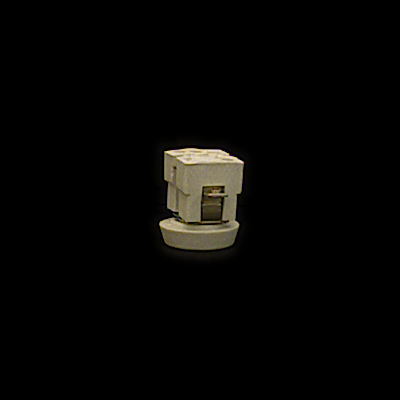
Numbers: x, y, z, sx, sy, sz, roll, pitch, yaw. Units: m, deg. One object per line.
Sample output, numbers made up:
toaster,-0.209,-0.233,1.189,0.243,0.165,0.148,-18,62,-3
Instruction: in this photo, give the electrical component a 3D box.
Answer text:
electrical component,0.000,0.000,0.652,0.049,0.056,0.065,-2,13,-19
